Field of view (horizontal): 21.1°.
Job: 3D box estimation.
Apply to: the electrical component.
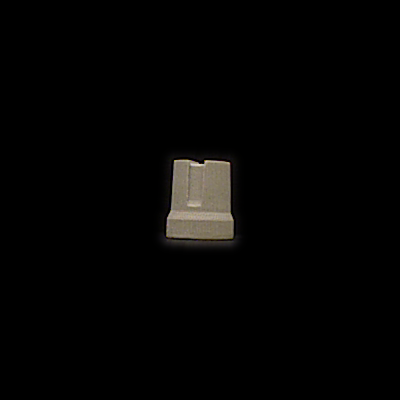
[{"bbox_3d":[0.000,0.000,0.651,0.040,0.046,0.040,2,2,0],"label":"electrical component"}]
